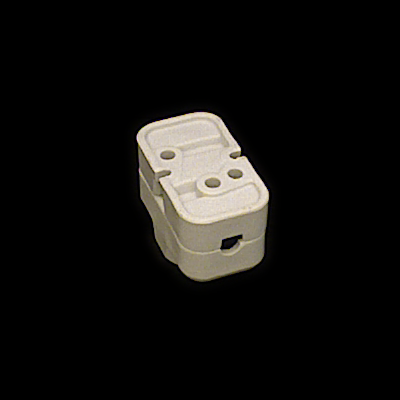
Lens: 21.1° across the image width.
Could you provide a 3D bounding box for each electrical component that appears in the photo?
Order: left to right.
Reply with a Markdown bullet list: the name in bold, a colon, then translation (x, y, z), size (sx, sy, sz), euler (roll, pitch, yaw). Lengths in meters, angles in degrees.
- **electrical component**: translation (0.000, 0.000, 0.640), size (0.054, 0.060, 0.094), euler (-15, 44, -16)
